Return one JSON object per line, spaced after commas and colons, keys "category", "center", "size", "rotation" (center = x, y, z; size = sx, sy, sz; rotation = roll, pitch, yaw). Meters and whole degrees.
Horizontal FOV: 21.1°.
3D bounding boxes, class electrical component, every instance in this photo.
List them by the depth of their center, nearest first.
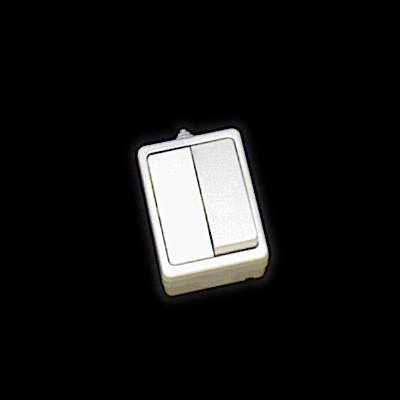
{"category": "electrical component", "center": [0.000, 0.000, 0.627], "size": [0.062, 0.096, 0.060], "rotation": [-11, -17, -4]}
